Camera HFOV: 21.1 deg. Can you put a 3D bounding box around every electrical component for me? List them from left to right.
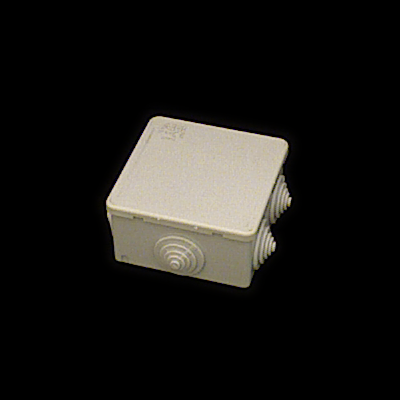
[{"bbox_3d":[0.000,0.000,0.642,0.099,0.049,0.099,12,44,11],"label":"electrical component"}]
